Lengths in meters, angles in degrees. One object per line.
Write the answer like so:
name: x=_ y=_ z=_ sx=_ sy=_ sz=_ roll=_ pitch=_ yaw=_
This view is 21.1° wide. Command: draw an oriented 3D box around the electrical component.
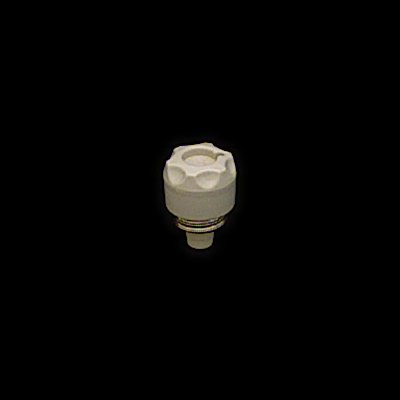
electrical component: x=0.000 y=0.000 z=0.641 sx=0.043 sy=0.063 sz=0.043 roll=0 pitch=33 yaw=0
